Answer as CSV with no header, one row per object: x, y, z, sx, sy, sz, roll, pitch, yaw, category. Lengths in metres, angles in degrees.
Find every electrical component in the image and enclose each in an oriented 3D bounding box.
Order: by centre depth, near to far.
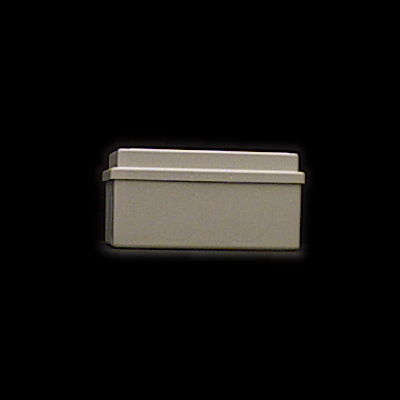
0.000,0.000,0.651,0.113,0.057,0.078,1,0,-10,electrical component
